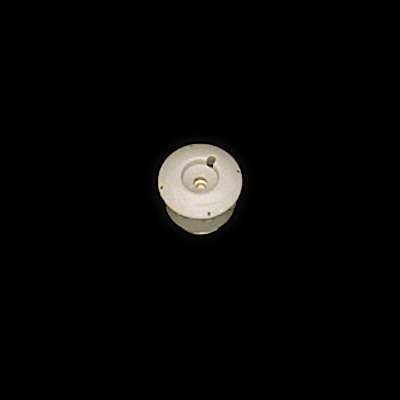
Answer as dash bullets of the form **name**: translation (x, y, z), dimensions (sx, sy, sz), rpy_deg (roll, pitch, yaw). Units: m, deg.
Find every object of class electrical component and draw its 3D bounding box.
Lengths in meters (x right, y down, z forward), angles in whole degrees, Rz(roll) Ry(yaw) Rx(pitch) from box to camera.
- **electrical component**: translation (0.000, 0.000, 0.634), dimensions (0.048, 0.048, 0.062), rpy_deg (0, -27, 0)
